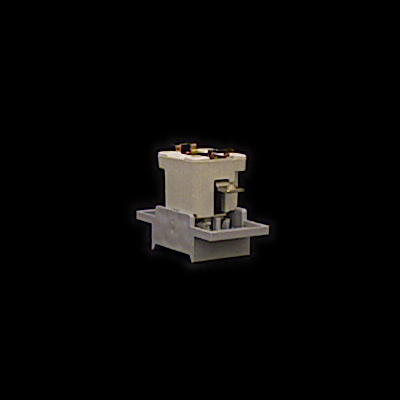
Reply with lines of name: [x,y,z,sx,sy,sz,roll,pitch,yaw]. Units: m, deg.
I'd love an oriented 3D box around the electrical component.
electrical component: [0.000,0.000,0.644,0.042,0.064,0.080,-7,13,-35]
